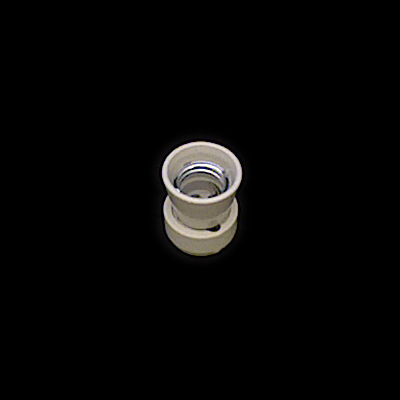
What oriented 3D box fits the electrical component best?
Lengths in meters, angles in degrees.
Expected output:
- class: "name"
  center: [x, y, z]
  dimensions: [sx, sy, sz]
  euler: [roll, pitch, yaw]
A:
- class: "electrical component"
  center: [0.000, 0.000, 0.631]
  dimensions: [0.045, 0.044, 0.055]
  euler: [0, -38, -1]
